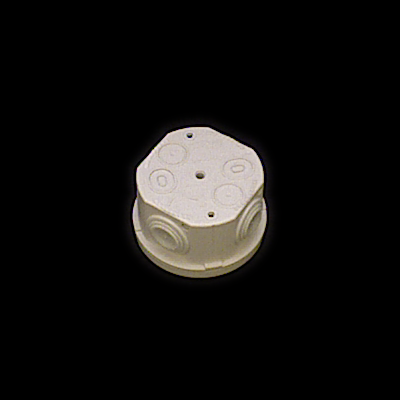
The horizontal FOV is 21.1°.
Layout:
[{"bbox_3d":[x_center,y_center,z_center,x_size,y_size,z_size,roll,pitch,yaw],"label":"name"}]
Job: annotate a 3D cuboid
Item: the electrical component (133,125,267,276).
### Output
[{"bbox_3d":[0.000,0.000,0.632,0.080,0.080,0.051,0,-37,-1],"label":"electrical component"}]
